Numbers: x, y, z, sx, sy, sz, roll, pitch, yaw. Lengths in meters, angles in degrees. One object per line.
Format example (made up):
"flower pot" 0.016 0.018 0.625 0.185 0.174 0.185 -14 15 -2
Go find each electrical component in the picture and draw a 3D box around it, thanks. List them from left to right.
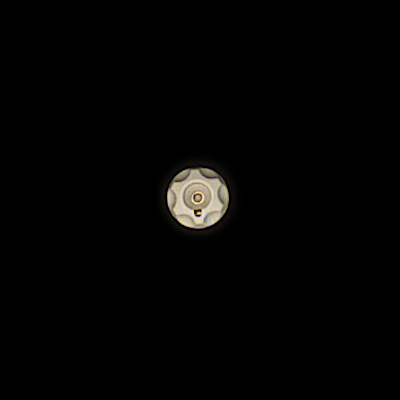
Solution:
"electrical component" 0.000 0.000 0.634 0.035 0.035 0.061 0 -5 1
